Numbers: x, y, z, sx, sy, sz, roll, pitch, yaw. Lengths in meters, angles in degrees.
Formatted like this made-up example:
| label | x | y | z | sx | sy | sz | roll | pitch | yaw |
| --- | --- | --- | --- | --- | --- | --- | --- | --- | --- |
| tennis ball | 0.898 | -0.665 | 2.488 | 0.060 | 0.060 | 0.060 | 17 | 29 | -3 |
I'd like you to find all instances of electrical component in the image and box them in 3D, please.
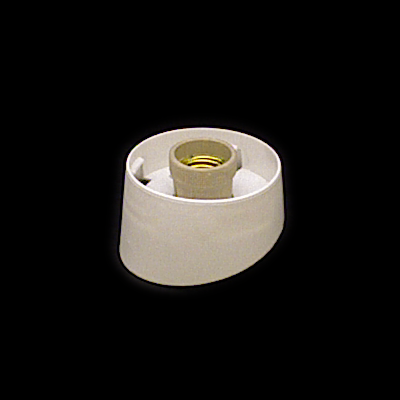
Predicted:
| label | x | y | z | sx | sy | sz | roll | pitch | yaw |
| --- | --- | --- | --- | --- | --- | --- | --- | --- | --- |
| electrical component | 0.000 | 0.000 | 0.634 | 0.099 | 0.065 | 0.097 | 1 | 32 | 0 |
